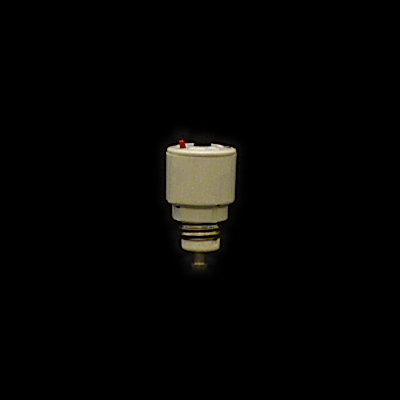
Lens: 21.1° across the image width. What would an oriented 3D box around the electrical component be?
[{"bbox_3d":[0.000,0.000,0.641,0.040,0.079,0.040,1,12,0],"label":"electrical component"}]
